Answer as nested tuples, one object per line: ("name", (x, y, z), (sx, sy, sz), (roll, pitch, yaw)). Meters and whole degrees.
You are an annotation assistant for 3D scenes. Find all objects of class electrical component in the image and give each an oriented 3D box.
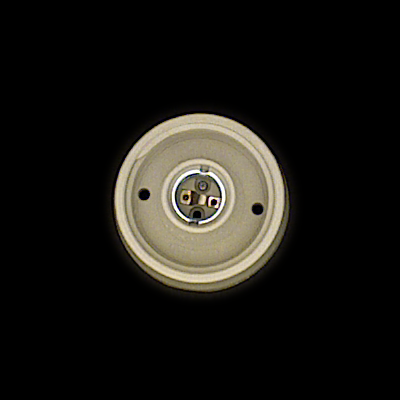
("electrical component", (0.000, 0.000, 0.635), (0.108, 0.108, 0.060), (0, -6, 0))
